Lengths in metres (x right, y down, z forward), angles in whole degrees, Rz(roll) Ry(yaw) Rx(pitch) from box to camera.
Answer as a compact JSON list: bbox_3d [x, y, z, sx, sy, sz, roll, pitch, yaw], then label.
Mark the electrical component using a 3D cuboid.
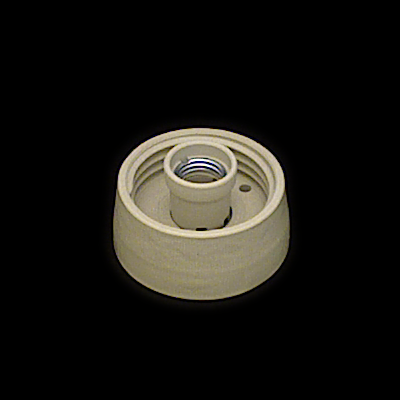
[{"bbox_3d":[0.000,0.000,0.638,0.108,0.061,0.107,1,43,0],"label":"electrical component"}]
